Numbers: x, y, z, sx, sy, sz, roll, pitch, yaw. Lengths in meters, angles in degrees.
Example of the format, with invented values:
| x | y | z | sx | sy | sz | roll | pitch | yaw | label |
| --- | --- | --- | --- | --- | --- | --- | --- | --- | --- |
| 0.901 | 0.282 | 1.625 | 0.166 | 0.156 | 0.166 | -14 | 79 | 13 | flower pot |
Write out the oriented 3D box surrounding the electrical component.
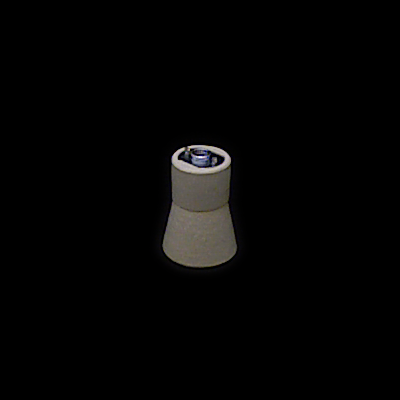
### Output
| x | y | z | sx | sy | sz | roll | pitch | yaw | label |
| --- | --- | --- | --- | --- | --- | --- | --- | --- | --- |
| 0.000 | 0.000 | 0.634 | 0.044 | 0.066 | 0.044 | 1 | 31 | -1 | electrical component |
